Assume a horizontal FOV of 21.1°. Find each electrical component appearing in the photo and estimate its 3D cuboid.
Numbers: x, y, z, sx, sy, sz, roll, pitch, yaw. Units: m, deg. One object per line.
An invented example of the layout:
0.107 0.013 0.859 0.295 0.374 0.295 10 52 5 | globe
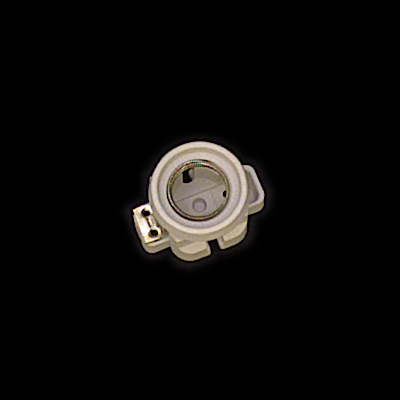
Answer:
0.000 0.000 0.628 0.079 0.058 0.056 -22 -15 -7 | electrical component
